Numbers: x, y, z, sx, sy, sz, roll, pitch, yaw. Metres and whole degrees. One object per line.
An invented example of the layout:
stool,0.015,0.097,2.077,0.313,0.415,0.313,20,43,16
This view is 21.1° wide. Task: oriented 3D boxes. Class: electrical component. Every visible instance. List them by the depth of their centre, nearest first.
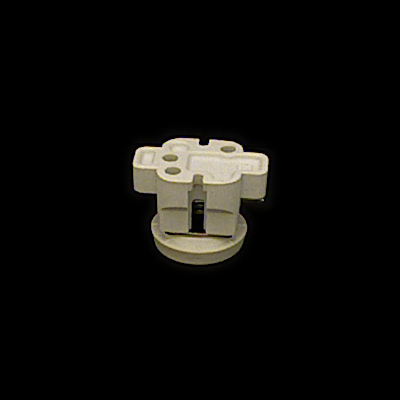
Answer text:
electrical component,0.000,0.000,0.644,0.078,0.057,0.057,3,32,1
